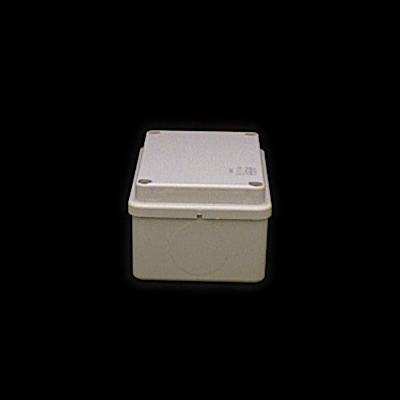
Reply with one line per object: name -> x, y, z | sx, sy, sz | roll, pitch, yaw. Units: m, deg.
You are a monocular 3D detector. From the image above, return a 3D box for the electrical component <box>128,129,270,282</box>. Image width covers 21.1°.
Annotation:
electrical component -> 0.000, 0.000, 0.639 | 0.078, 0.058, 0.111 | 1, 20, 0
